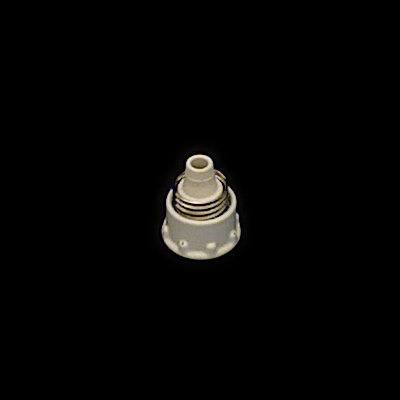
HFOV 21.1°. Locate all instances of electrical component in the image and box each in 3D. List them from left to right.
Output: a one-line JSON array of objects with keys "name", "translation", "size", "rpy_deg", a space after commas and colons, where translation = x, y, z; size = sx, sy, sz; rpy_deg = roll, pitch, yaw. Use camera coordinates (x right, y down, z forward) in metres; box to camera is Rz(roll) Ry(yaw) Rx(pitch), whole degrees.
[{"name": "electrical component", "translation": [0.000, 0.000, 0.636], "size": [0.048, 0.062, 0.047], "rpy_deg": [0, 43, 1]}]
